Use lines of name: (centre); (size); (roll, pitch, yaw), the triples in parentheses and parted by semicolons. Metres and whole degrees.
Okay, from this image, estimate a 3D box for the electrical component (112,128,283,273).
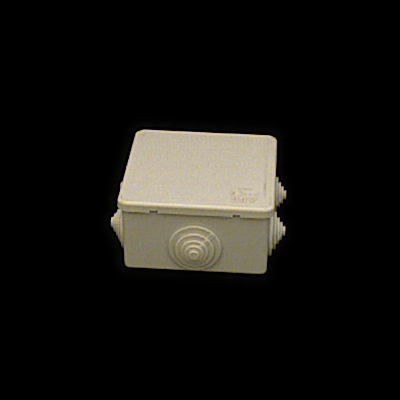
electrical component: (0.000, 0.000, 0.644); (0.099, 0.049, 0.099); (3, 32, 3)
